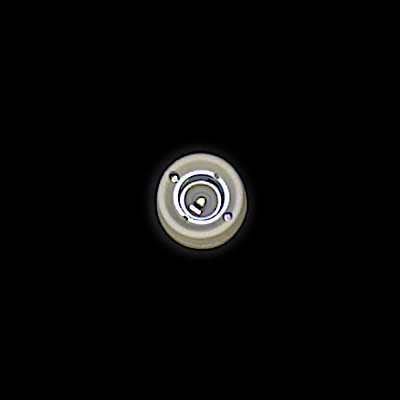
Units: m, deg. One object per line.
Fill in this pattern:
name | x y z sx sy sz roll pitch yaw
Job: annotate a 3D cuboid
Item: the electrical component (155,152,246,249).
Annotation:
electrical component | 0.000 0.000 0.634 0.055 0.055 0.047 0 -7 1
